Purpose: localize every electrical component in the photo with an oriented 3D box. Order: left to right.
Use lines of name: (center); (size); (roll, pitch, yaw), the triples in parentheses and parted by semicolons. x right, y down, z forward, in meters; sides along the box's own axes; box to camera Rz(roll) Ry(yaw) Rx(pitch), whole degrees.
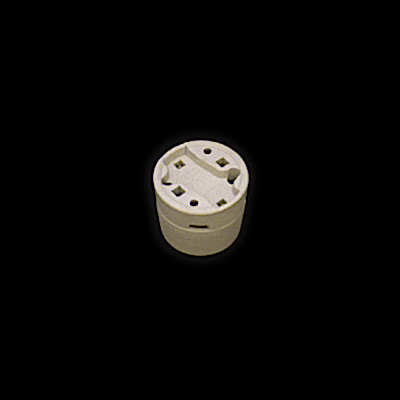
electrical component: (0.000, 0.000, 0.635); (0.055, 0.055, 0.047); (0, -38, -1)
